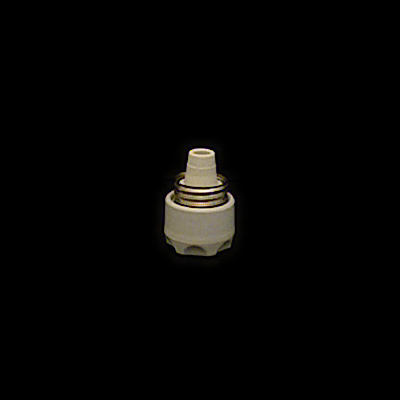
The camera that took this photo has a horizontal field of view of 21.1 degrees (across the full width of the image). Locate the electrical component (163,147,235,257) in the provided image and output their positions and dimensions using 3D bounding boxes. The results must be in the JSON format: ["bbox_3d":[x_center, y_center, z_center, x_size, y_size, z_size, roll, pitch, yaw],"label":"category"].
[{"bbox_3d":[0.000,0.000,0.647,0.043,0.063,0.043,2,21,0],"label":"electrical component"}]
